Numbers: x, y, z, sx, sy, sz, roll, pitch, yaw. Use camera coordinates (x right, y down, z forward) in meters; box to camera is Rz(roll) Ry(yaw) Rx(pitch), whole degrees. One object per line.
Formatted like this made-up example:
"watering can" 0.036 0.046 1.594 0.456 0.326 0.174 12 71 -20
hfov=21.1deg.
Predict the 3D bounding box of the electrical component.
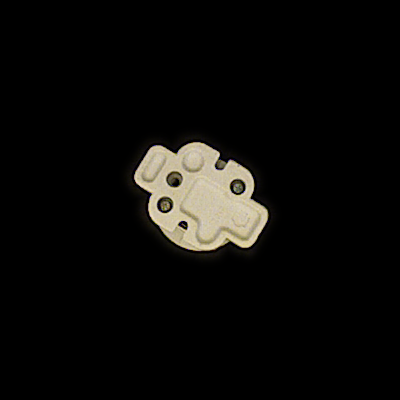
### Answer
"electrical component" 0.000 0.000 0.637 0.078 0.058 0.056 30 -5 2
